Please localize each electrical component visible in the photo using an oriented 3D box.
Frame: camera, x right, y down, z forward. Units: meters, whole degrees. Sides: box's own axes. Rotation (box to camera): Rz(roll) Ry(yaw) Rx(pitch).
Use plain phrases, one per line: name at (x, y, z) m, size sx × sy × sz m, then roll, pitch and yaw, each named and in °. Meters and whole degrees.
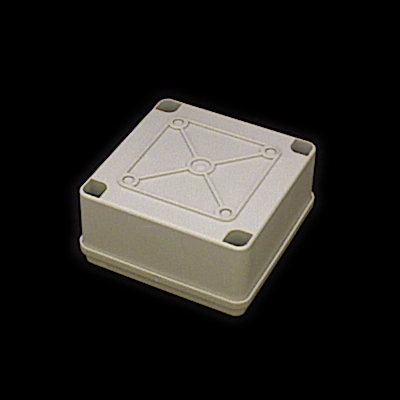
electrical component at (0.000, 0.000, 0.633) m, size 0.108 × 0.057 × 0.108 m, roll 19°, pitch 45°, yaw 19°
